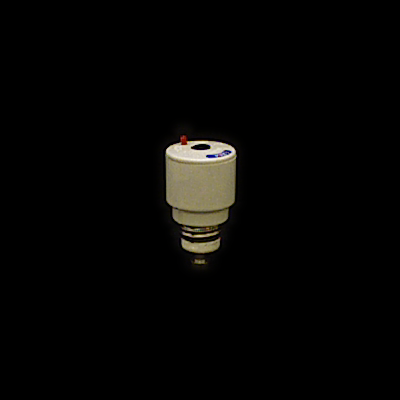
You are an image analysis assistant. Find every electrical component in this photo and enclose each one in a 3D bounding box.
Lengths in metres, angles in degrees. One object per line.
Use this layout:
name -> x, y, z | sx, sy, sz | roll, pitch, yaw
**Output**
electrical component -> 0.000, 0.000, 0.637 | 0.040, 0.079, 0.039 | 0, 21, 0
